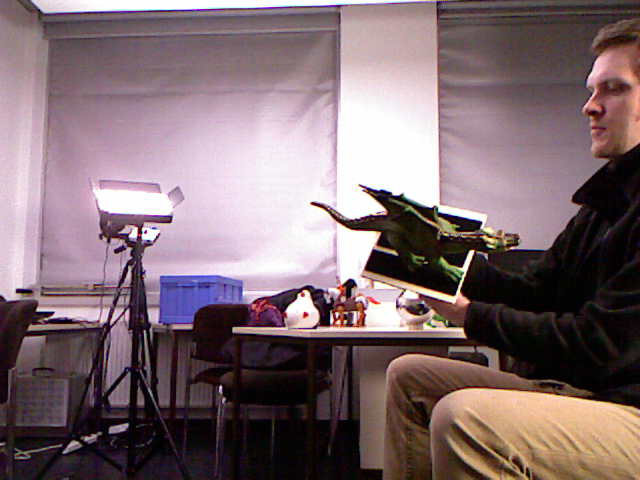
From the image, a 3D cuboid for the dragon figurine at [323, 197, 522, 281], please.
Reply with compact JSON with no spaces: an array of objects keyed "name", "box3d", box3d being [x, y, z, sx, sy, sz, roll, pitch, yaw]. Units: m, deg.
[{"name":"dragon figurine","box3d":[0.163,-0.034,0.975,0.413,0.124,0.240,16,-16,21]}]
